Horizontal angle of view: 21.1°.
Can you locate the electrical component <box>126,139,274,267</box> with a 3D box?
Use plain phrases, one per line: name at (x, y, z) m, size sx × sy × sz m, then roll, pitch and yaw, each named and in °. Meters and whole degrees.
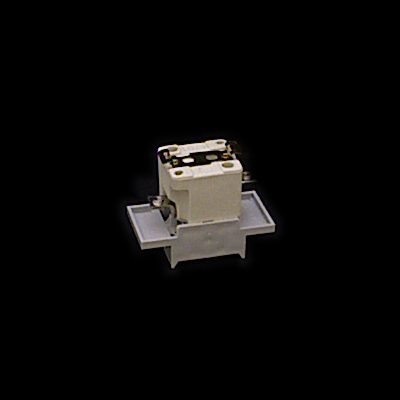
electrical component at (0.000, 0.000, 0.633) m, size 0.081 × 0.064 × 0.041 m, roll -7°, pitch 32°, yaw -14°
